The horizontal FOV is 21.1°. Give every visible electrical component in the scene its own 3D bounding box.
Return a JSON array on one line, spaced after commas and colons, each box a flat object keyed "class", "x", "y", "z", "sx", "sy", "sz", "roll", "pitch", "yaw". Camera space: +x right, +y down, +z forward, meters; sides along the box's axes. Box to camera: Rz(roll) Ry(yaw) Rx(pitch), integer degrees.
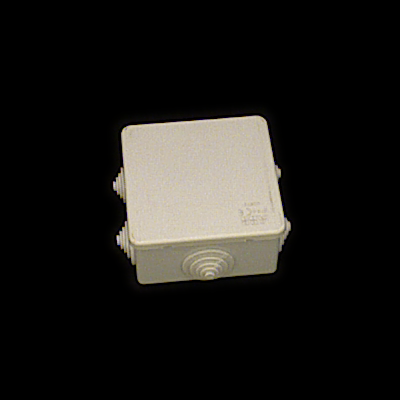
[{"class": "electrical component", "x": 0.000, "y": 0.000, "z": 0.640, "sx": 0.100, "sy": 0.099, "sz": 0.049, "roll": -4, "pitch": -37, "yaw": -4}]
